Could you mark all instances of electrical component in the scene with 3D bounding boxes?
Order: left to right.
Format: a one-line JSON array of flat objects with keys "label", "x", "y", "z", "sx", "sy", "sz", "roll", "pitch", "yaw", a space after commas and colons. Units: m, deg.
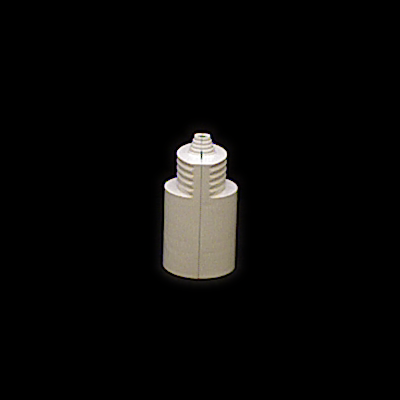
[{"label": "electrical component", "x": 0.000, "y": 0.000, "z": 0.634, "sx": 0.043, "sy": 0.082, "sz": 0.042, "roll": 1, "pitch": 21, "yaw": 0}]
